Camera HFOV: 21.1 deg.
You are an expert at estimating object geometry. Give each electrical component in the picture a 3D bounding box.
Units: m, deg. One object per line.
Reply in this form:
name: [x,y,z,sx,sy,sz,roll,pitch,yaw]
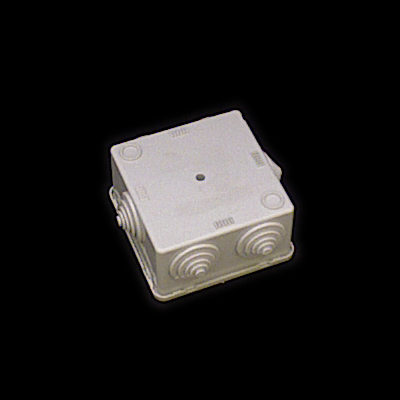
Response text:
electrical component: [0.000,0.000,0.633,0.100,0.099,0.049,-17,-35,-13]
